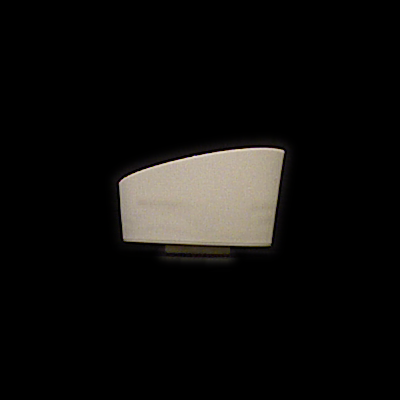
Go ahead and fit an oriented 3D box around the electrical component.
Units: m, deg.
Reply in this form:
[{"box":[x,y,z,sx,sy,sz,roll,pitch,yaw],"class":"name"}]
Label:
[{"box":[0.000,0.000,0.650,0.099,0.064,0.099,2,0,0],"class":"electrical component"}]
